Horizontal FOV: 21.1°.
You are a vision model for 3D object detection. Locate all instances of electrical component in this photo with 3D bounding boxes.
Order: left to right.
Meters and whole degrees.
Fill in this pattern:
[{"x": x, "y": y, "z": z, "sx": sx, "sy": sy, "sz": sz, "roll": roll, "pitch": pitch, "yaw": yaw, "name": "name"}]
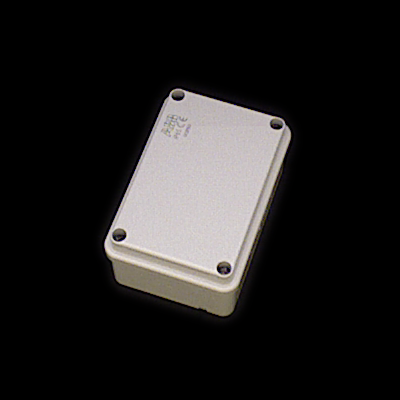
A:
[{"x": 0.000, "y": 0.000, "z": 0.627, "sx": 0.078, "sy": 0.113, "sz": 0.057, "roll": 17, "pitch": -26, "yaw": 8, "name": "electrical component"}]
